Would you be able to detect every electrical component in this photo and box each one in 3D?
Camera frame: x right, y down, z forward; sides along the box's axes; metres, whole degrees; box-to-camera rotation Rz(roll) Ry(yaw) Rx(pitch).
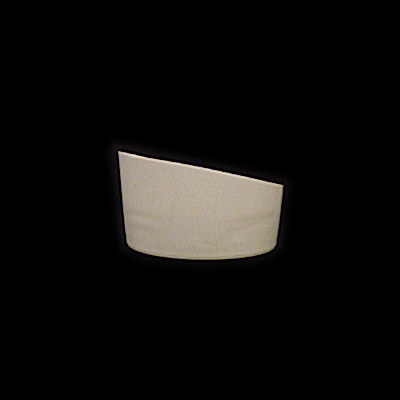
[{"bbox_3d":[0.000,0.000,0.642,0.099,0.064,0.098,1,11,0],"label":"electrical component"}]
